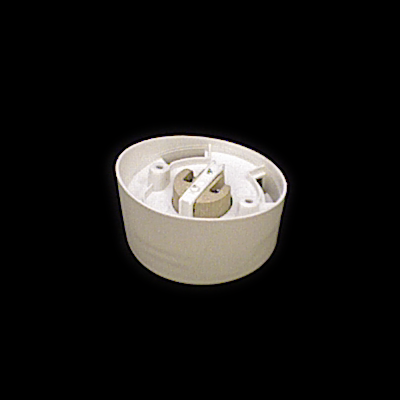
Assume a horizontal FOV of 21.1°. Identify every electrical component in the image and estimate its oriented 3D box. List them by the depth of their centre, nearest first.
[{"bbox_3d":[0.000,0.000,0.628,0.099,0.064,0.098,1,43,0],"label":"electrical component"}]
